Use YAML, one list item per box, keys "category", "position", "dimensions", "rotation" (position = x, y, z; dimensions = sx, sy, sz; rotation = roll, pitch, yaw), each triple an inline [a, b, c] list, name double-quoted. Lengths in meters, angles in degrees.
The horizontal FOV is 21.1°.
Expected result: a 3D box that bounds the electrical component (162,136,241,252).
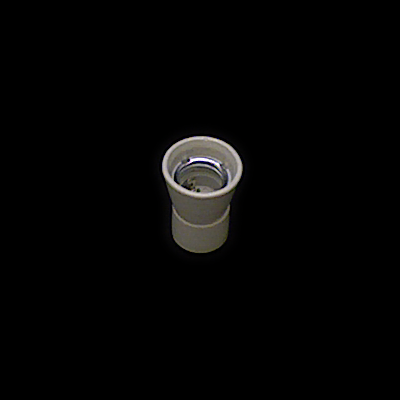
- category: "electrical component"
  position: [0.000, 0.000, 0.627]
  dimensions: [0.044, 0.044, 0.065]
  rotation: [0, -38, -1]
